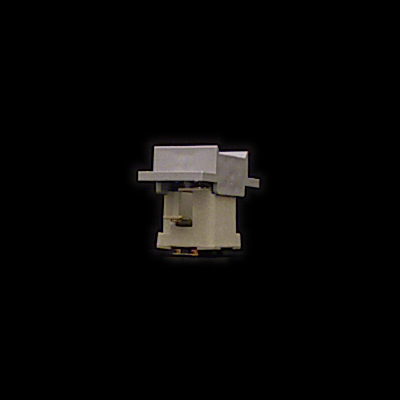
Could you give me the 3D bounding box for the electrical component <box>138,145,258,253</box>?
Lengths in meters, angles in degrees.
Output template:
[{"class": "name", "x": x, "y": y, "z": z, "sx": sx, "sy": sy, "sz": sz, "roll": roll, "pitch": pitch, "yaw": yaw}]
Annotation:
[{"class": "electrical component", "x": 0.000, "y": 0.000, "z": 0.647, "sx": 0.042, "sy": 0.064, "sz": 0.081, "roll": 3, "pitch": 0, "yaw": 27}]
